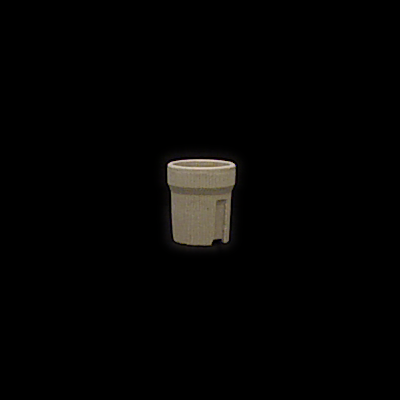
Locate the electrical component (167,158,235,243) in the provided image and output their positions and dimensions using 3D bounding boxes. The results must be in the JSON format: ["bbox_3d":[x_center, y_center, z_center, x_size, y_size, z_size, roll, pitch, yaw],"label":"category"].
[{"bbox_3d":[0.000,0.000,0.646,0.040,0.046,0.040,1,11,0],"label":"electrical component"}]
